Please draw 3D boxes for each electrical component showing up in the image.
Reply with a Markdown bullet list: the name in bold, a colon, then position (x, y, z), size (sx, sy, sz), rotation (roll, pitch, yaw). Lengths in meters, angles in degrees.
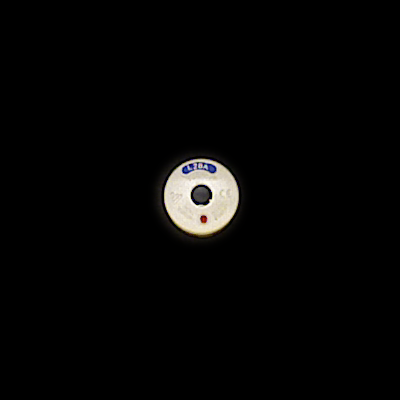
- **electrical component**: position (0.000, 0.000, 0.617), size (0.040, 0.040, 0.078), rotation (0, -5, 0)
